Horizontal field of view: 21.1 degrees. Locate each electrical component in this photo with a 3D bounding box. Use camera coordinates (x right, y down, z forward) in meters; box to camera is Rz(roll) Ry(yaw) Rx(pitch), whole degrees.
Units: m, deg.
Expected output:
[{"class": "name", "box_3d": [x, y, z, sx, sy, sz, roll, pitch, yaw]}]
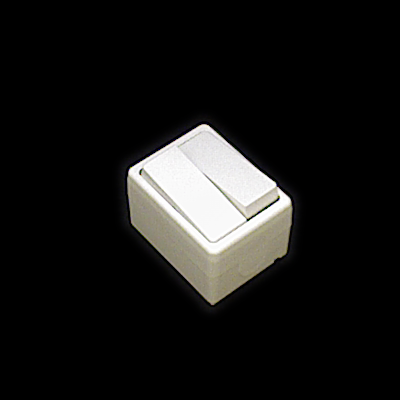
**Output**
[{"class": "electrical component", "box_3d": [0.000, 0.000, 0.629, 0.062, 0.096, 0.061, -33, -31, -23]}]
